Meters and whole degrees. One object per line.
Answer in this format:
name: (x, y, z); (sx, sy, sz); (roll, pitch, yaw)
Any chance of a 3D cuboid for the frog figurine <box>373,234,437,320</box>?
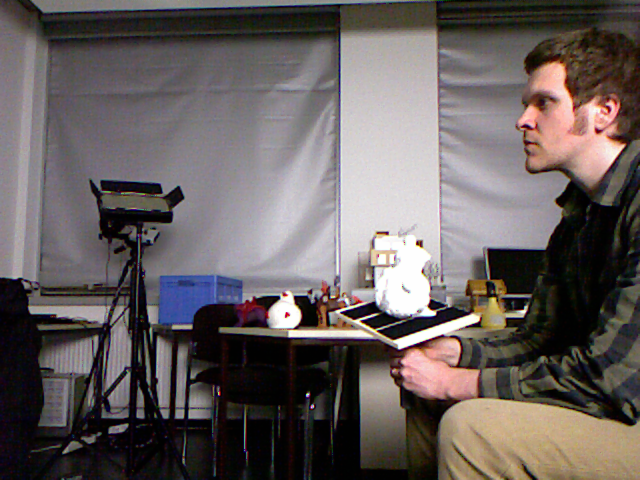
frog figurine: (0.165, 0.072, 1.016); (0.123, 0.157, 0.139); (-7, 18, -12)
